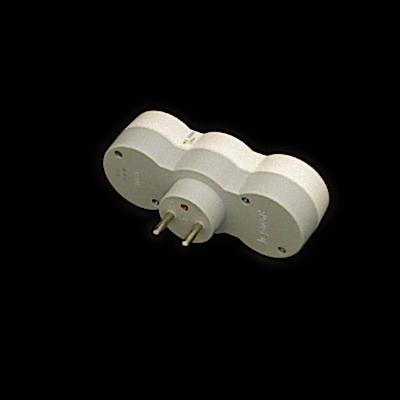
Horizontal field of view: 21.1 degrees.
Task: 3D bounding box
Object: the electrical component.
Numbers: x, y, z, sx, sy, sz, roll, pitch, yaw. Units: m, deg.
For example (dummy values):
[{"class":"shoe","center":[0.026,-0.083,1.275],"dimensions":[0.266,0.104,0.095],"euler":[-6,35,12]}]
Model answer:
[{"class":"electrical component","center":[0.000,0.000,0.639],"dimensions":[0.137,0.052,0.074],"euler":[21,48,20]}]
